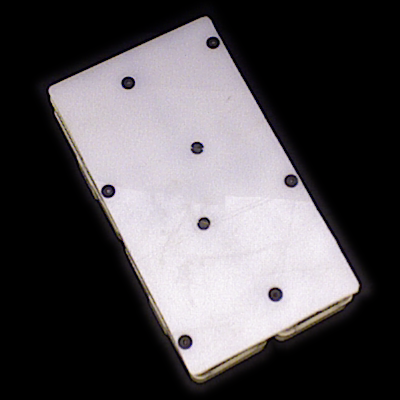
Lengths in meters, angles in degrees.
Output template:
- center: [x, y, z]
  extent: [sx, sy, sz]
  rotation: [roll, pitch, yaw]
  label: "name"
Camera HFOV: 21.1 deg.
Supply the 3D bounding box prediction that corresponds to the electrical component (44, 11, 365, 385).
- center: [0.000, 0.000, 0.625]
  extent: [0.106, 0.187, 0.060]
  rotation: [-26, -15, -8]
  label: "electrical component"
